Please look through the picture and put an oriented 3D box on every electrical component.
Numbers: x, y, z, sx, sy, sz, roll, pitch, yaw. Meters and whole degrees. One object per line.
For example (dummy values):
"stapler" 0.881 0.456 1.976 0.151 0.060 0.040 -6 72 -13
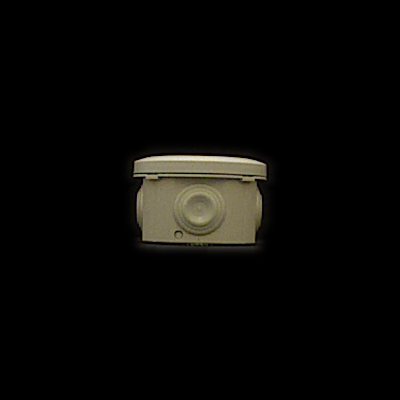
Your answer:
"electrical component" 0.000 0.000 0.647 0.080 0.051 0.080 1 0 0
